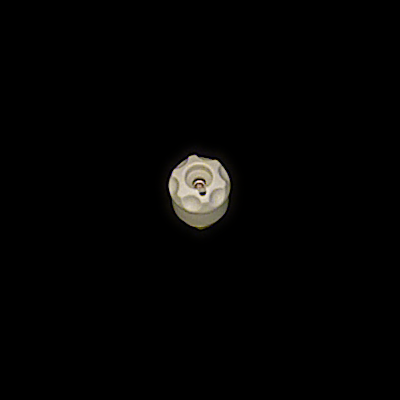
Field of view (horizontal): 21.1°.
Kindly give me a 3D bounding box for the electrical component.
[{"bbox_3d":[0.000,0.000,0.632,0.035,0.035,0.061,0,-26,1],"label":"electrical component"}]
